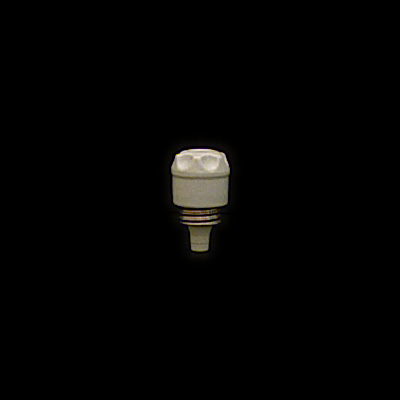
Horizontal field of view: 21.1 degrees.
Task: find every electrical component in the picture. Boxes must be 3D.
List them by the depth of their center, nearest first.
[{"bbox_3d":[0.000,0.000,0.651,0.035,0.062,0.035,1,12,0],"label":"electrical component"}]
